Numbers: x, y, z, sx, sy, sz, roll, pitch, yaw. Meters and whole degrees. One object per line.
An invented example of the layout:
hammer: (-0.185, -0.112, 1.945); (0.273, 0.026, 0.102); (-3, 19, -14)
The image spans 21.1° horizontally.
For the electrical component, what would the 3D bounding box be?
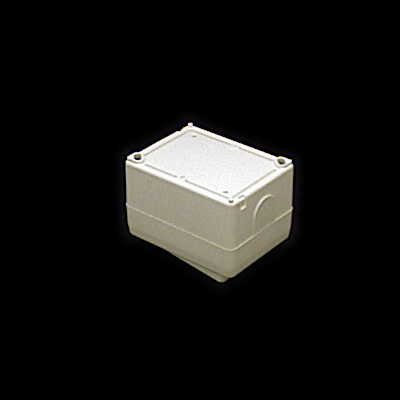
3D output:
electrical component: (0.000, 0.000, 0.637); (0.095, 0.062, 0.061); (23, 38, 31)
